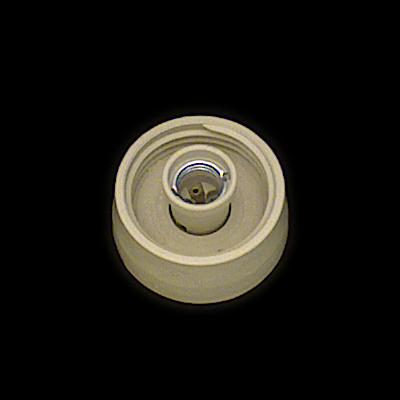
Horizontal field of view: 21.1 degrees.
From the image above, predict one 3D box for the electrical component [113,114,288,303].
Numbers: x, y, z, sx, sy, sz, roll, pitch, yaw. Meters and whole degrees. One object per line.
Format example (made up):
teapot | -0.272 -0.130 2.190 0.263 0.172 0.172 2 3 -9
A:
electrical component | 0.000 0.000 0.634 0.108 0.108 0.060 0 -27 0
